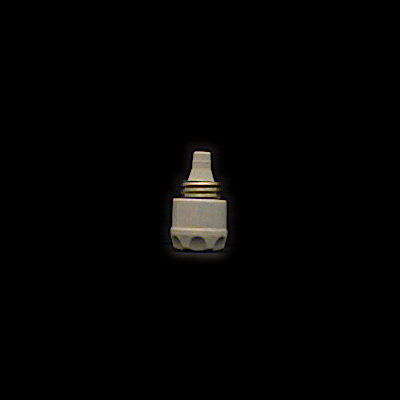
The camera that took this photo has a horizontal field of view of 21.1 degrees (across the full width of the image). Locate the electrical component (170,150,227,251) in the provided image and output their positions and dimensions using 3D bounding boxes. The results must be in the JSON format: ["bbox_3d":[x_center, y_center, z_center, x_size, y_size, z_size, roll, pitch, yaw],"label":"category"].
[{"bbox_3d":[0.000,0.000,0.664,0.035,0.061,0.035,2,3,0],"label":"electrical component"}]
